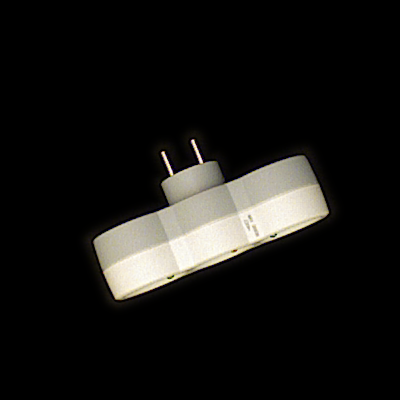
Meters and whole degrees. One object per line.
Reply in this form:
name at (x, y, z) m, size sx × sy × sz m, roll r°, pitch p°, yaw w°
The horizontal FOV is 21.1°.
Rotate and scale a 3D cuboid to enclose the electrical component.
electrical component at (0.000, 0.000, 0.640) m, size 0.138 × 0.074 × 0.052 m, roll -22°, pitch -7°, yaw -2°
